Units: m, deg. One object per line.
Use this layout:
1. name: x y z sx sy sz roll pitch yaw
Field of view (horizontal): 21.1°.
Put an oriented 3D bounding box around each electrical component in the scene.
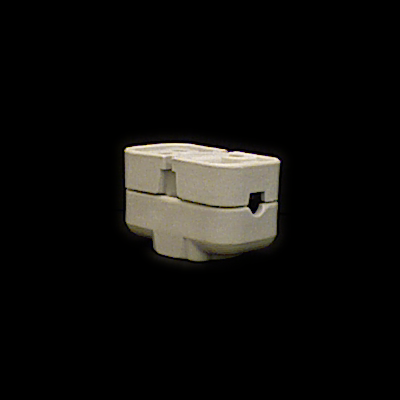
1. electrical component: 0.000 0.000 0.649 0.054 0.060 0.094 -10 16 -44
